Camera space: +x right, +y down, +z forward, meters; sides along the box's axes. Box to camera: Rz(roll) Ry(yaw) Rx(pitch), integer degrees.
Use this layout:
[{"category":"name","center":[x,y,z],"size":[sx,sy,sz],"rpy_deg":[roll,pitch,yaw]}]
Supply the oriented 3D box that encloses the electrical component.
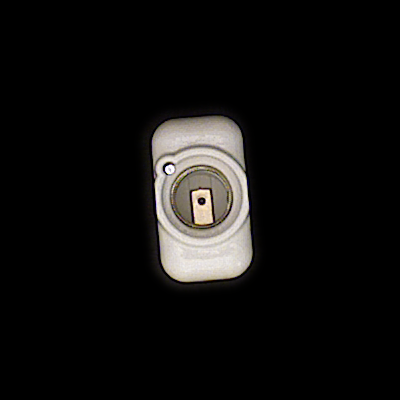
[{"category":"electrical component","center":[0.000,0.000,0.635],"size":[0.054,0.095,0.059],"rpy_deg":[-6,-6,0]}]
